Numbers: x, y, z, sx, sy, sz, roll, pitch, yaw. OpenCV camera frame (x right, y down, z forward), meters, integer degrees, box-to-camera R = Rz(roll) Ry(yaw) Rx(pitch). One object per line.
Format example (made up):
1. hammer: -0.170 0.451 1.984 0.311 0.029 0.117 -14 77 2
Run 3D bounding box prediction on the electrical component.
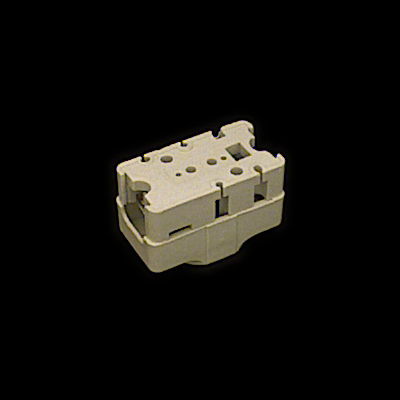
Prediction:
1. electrical component: 0.000 0.000 0.640 0.090 0.056 0.049 -21 46 -22
